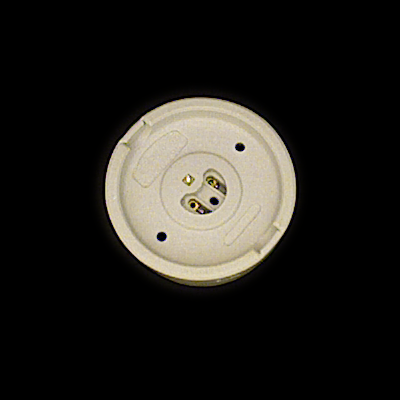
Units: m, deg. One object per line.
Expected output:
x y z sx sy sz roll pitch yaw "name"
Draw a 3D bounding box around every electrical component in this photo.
0.000 0.000 0.633 0.108 0.108 0.060 0 -16 0 "electrical component"
